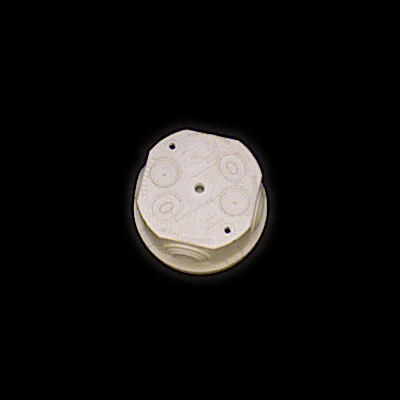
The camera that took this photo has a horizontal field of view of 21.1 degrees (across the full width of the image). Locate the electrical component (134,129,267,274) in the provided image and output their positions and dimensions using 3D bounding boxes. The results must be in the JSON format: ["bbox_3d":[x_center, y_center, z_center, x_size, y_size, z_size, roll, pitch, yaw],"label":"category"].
[{"bbox_3d":[0.000,0.000,0.632,0.080,0.080,0.050,0,-18,0],"label":"electrical component"}]
